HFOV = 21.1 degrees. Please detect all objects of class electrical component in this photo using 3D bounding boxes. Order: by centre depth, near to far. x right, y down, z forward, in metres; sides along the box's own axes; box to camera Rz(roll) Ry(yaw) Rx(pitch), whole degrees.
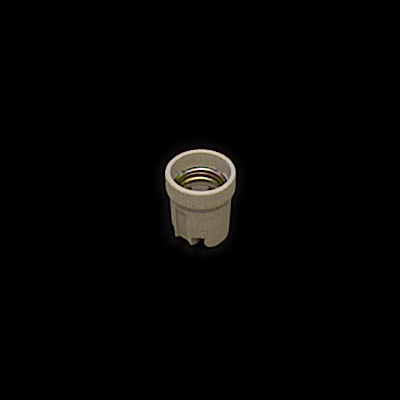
[{"bbox_3d":[0.000,0.000,0.632,0.040,0.047,0.039,1,42,0],"label":"electrical component"}]
